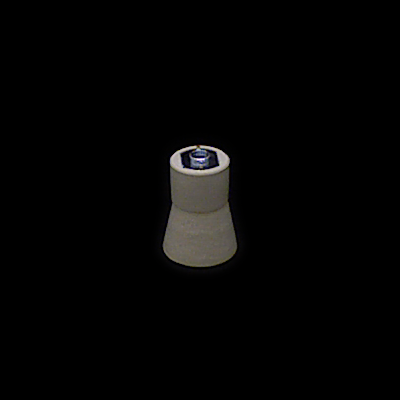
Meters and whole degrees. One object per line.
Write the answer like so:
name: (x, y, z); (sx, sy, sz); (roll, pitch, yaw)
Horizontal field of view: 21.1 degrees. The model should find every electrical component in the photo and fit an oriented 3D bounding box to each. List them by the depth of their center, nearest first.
electrical component: (0.000, 0.000, 0.633); (0.044, 0.066, 0.044); (0, 32, 0)
